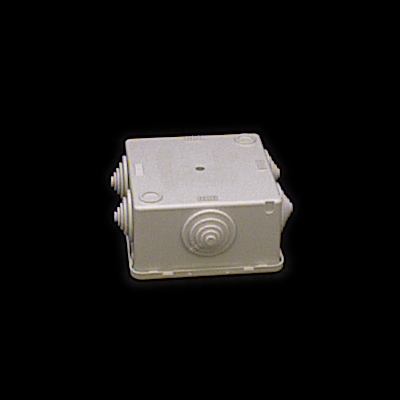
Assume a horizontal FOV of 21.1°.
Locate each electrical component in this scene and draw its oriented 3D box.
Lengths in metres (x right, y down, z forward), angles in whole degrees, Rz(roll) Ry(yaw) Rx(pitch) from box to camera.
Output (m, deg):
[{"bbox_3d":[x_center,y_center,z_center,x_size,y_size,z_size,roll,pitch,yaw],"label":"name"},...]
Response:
[{"bbox_3d":[0.000,0.000,0.636,0.100,0.049,0.098,-3,32,-6],"label":"electrical component"}]
